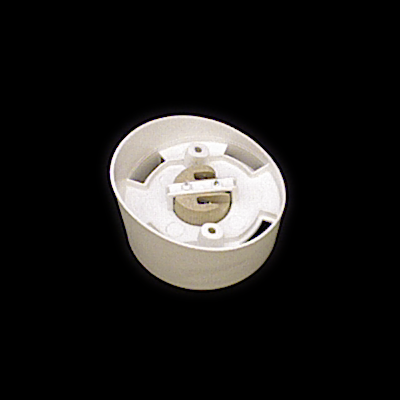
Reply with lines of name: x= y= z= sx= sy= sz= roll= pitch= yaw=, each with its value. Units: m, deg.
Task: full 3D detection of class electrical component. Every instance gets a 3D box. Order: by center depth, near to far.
electrical component: x=0.000 y=0.000 z=0.625 sx=0.099 sy=0.098 sz=0.064 roll=0 pitch=-37 yaw=0
